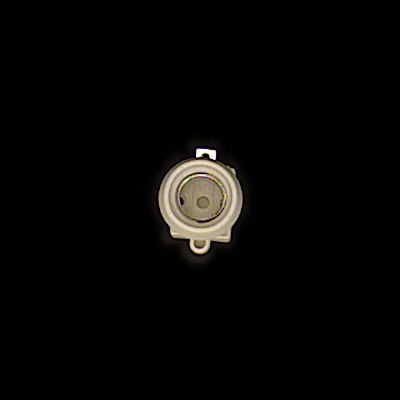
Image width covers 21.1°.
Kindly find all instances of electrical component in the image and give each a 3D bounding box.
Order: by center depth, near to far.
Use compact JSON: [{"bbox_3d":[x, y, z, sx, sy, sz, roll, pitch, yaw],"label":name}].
[{"bbox_3d":[0.000,0.000,0.639,0.048,0.066,0.055,4,-6,-1],"label":"electrical component"}]
